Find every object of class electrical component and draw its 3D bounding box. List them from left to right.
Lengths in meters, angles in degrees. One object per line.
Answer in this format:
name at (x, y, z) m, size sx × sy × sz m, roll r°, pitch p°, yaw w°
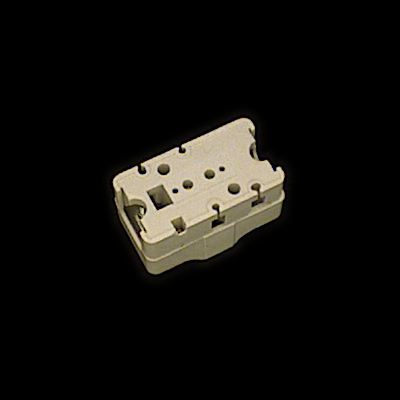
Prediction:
electrical component at (0.000, 0.000, 0.636) m, size 0.090 × 0.050 × 0.055 m, roll -25°, pitch -23°, yaw -12°
